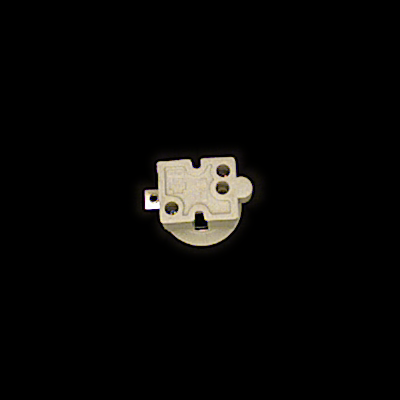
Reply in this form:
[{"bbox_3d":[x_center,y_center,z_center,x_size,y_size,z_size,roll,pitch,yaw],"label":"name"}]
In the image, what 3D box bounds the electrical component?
[{"bbox_3d":[0.000,0.000,0.638,0.066,0.048,0.055,-3,-15,0],"label":"electrical component"}]
